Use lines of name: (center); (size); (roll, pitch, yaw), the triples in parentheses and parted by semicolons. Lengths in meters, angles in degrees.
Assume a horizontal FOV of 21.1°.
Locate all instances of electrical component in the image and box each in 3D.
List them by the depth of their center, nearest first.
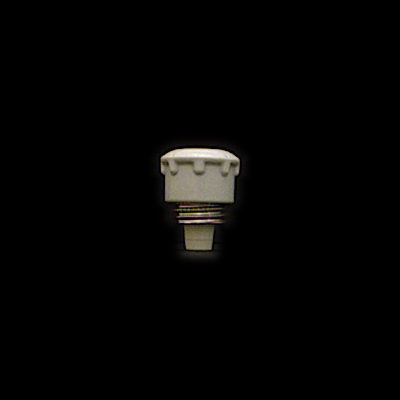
electrical component: (0.000, 0.000, 0.654); (0.048, 0.062, 0.048); (1, 1, 0)
